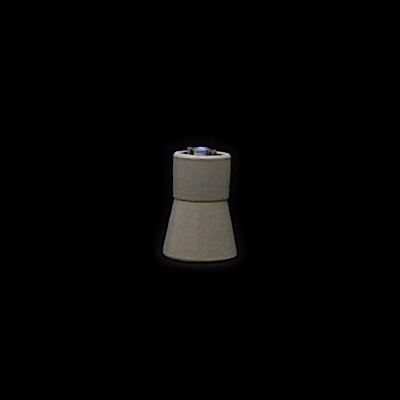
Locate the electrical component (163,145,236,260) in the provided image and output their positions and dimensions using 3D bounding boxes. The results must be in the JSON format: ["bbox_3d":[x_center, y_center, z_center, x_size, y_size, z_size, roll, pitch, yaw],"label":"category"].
[{"bbox_3d":[0.000,0.000,0.645,0.044,0.066,0.044,2,10,0],"label":"electrical component"}]
